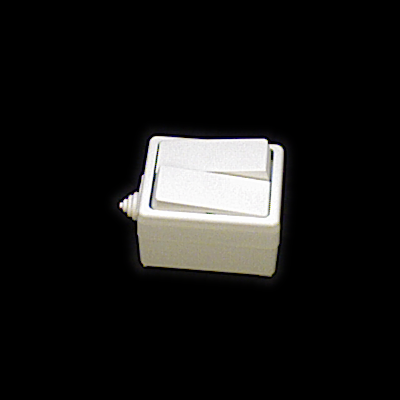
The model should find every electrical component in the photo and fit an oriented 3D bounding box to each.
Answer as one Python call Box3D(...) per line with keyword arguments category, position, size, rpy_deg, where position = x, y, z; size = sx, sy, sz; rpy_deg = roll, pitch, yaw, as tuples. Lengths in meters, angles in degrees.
Box3D(category="electrical component", position=(0.000, 0.000, 0.628), size=(0.096, 0.061, 0.061), rpy_deg=(5, -38, 3))
